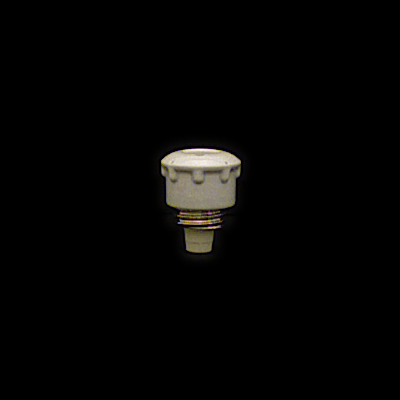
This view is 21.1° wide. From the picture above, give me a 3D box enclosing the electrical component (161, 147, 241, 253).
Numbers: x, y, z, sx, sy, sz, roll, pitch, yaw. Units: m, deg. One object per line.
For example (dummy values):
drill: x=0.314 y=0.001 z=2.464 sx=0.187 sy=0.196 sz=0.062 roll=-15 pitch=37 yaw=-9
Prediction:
electrical component: x=0.000 y=0.000 z=0.651 sx=0.048 sy=0.062 sz=0.048 roll=1 pitch=11 yaw=0
